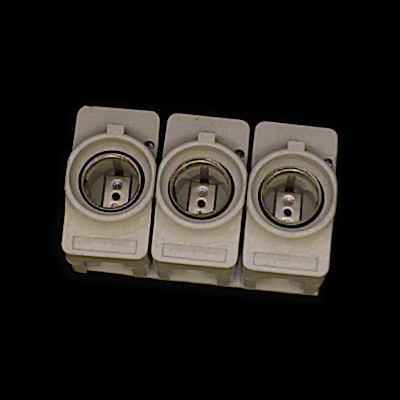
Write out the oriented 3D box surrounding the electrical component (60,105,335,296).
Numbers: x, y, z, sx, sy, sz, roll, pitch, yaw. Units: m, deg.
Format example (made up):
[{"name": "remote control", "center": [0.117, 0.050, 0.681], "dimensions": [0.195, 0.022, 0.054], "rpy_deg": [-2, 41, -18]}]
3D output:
[{"name": "electrical component", "center": [0.000, 0.000, 0.632], "dimensions": [0.150, 0.089, 0.062], "rpy_deg": [5, -18, 1]}]
